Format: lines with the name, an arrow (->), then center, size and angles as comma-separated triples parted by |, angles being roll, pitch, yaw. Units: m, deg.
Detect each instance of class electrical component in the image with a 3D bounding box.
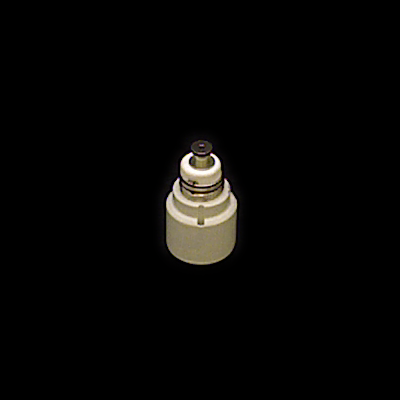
electrical component -> 0.000, 0.000, 0.623 | 0.040, 0.079, 0.039 | 0, 41, 0
